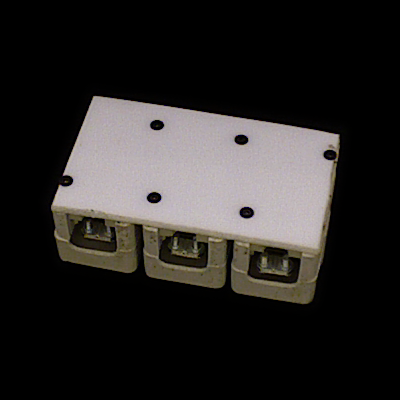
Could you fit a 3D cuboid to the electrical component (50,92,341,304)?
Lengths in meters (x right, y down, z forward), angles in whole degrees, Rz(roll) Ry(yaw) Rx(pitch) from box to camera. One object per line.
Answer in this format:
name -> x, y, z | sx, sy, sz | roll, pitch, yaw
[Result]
electrical component -> 0.000, 0.000, 0.632 | 0.150, 0.088, 0.062 | 10, -38, 7
